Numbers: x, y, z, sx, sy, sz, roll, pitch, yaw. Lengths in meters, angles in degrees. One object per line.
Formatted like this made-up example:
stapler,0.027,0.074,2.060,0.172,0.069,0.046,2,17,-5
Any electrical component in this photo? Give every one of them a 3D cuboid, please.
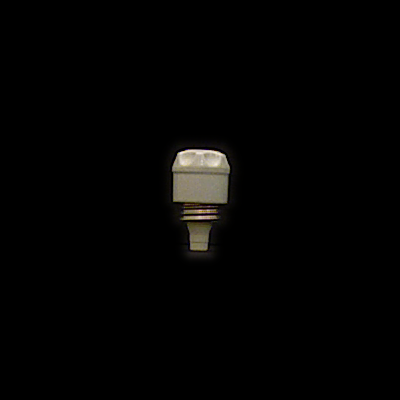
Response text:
electrical component,0.000,0.000,0.657,0.035,0.061,0.035,1,2,0
